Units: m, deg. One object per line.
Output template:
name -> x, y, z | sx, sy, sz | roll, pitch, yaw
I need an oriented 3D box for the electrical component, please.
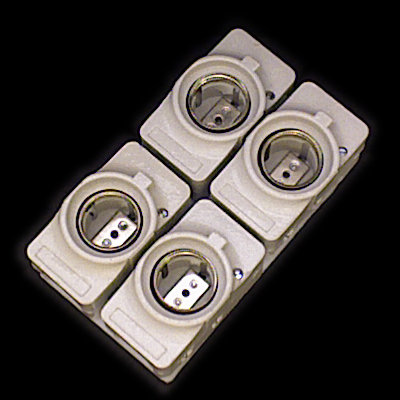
electrical component -> 0.000, 0.000, 0.625 | 0.105, 0.187, 0.060 | 39, -13, 11
